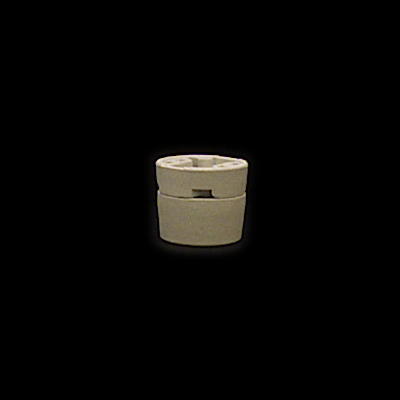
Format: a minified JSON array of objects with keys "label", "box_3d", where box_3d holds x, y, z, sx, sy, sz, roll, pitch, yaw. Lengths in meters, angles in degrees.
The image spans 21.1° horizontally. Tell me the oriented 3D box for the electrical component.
[{"label":"electrical component","box_3d":[0.000,0.000,0.644,0.055,0.047,0.055,1,10,0]}]
